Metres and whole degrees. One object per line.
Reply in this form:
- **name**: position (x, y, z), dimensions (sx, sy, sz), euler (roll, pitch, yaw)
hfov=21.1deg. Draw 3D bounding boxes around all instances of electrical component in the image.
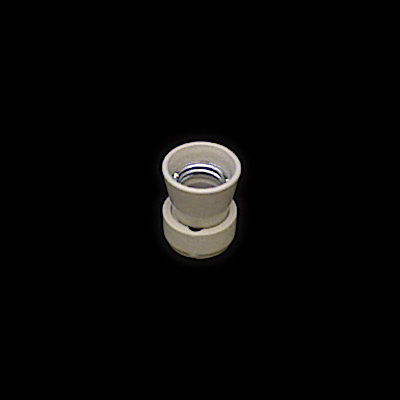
- **electrical component**: position (0.000, 0.000, 0.633), dimensions (0.045, 0.056, 0.044), euler (1, 42, -1)
